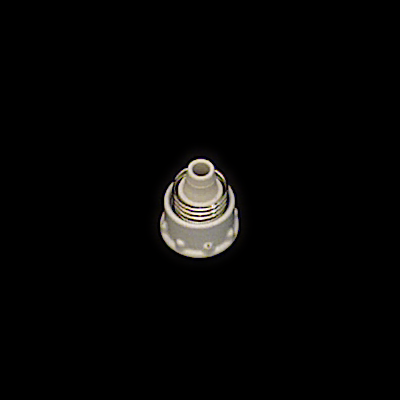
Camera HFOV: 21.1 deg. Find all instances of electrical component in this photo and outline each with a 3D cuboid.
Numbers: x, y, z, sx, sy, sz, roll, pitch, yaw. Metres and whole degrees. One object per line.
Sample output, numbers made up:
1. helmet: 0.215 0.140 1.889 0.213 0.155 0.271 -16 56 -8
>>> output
1. electrical component: 0.000 0.000 0.635 0.048 0.048 0.062 0 -37 -1
